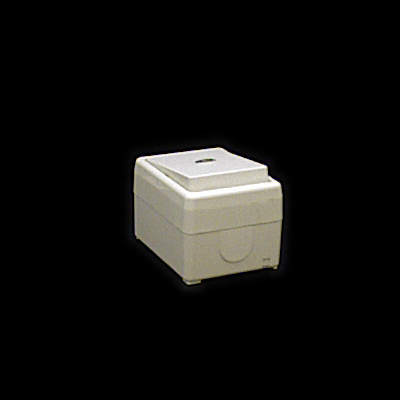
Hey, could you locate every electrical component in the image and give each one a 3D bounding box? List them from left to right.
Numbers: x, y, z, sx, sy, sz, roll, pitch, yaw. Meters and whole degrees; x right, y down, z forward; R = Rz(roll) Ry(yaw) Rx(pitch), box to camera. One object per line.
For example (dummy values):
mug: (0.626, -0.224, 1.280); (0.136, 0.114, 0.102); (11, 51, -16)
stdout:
electrical component: (0.000, 0.000, 0.641); (0.062, 0.061, 0.095); (-9, 23, -24)
